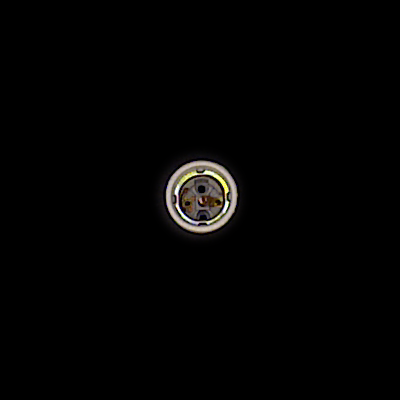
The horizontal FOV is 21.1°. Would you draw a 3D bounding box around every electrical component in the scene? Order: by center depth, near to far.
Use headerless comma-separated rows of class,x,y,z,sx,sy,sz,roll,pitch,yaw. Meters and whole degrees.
electrical component,0.000,0.000,0.628,0.040,0.040,0.046,0,-7,0
